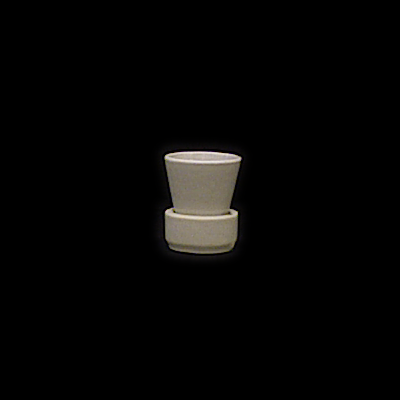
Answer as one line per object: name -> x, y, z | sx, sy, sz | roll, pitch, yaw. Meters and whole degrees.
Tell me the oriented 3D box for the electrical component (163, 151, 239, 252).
electrical component -> 0.000, 0.000, 0.646 | 0.045, 0.055, 0.044 | 2, 11, 0
